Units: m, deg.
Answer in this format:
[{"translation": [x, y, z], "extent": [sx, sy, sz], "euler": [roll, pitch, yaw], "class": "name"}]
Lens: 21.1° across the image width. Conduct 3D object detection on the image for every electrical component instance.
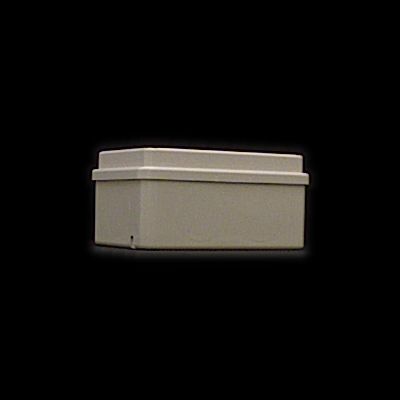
[{"translation": [0.000, 0.000, 0.651], "extent": [0.114, 0.057, 0.078], "euler": [1, 0, -30], "class": "electrical component"}]
